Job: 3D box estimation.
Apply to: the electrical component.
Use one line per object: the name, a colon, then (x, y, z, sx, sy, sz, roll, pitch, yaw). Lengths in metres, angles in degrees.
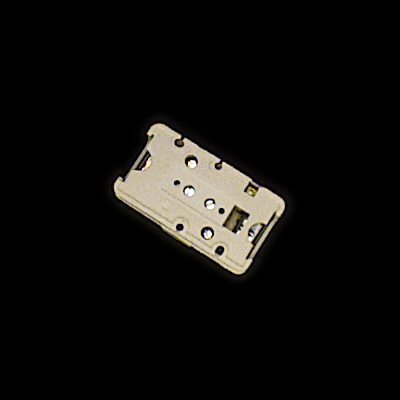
electrical component: (0.000, 0.000, 0.637, 0.089, 0.050, 0.055, 32, -5, 3)
